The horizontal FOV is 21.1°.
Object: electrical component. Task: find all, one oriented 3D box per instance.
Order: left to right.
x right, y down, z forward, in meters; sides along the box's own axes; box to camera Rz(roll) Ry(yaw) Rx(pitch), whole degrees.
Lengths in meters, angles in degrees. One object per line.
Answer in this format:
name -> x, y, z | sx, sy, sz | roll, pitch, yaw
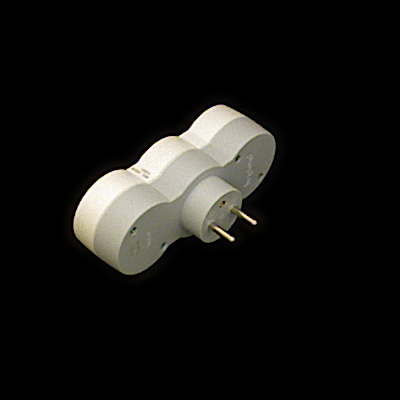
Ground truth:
electrical component -> 0.000, 0.000, 0.638 | 0.073, 0.052, 0.139 | 34, 52, 29
